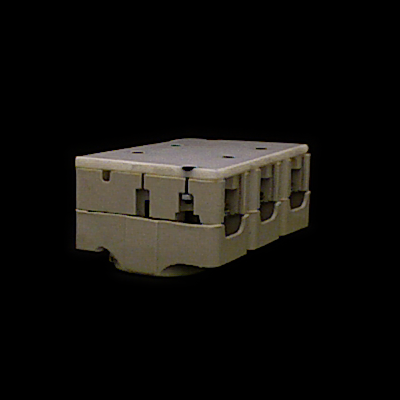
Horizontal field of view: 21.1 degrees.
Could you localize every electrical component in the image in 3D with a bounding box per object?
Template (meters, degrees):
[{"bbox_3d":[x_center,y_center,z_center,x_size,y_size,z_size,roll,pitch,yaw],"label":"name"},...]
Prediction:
[{"bbox_3d":[0.000,0.000,0.654,0.089,0.062,0.149,6,10,25],"label":"electrical component"}]
